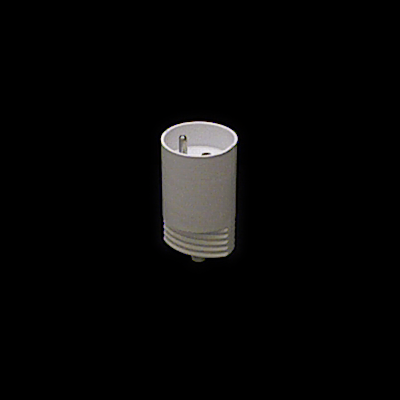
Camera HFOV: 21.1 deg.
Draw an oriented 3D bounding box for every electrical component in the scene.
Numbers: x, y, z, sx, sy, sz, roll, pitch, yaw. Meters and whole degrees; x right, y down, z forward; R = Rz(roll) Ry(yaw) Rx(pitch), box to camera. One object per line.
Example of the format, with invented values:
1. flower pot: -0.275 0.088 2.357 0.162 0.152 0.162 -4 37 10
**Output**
1. electrical component: 0.000 0.000 0.627 0.043 0.082 0.042 1 31 0
